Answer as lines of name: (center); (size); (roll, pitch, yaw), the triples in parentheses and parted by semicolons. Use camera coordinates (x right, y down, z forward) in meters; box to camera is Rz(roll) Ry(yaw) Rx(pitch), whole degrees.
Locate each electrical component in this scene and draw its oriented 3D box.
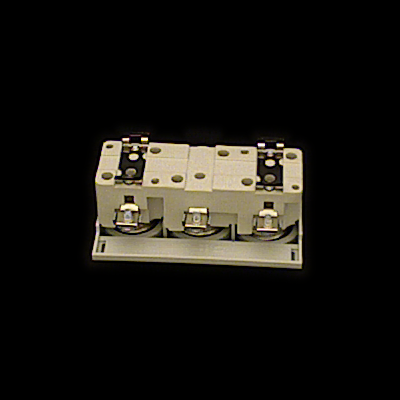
electrical component: (0.000, 0.000, 0.640); (0.121, 0.063, 0.077); (3, 42, 1)
